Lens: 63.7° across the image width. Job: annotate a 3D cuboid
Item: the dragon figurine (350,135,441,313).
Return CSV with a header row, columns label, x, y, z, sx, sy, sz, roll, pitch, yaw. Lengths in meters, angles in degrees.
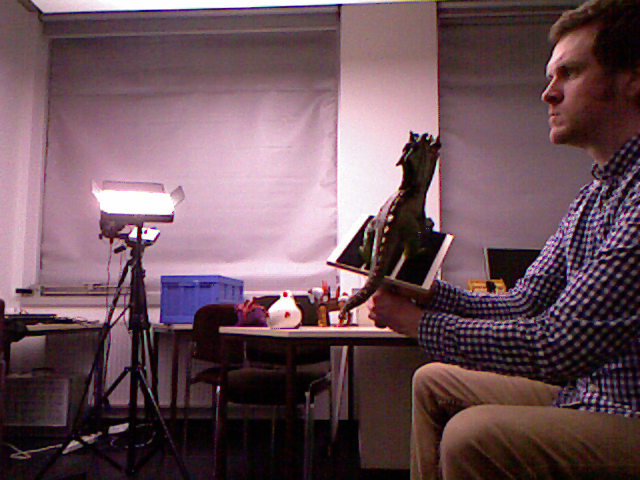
label,x,y,z,sx,sy,sz,roll,pitch,yaw
dragon figurine,0.149,-0.072,0.947,0.123,0.238,0.420,14,38,19
